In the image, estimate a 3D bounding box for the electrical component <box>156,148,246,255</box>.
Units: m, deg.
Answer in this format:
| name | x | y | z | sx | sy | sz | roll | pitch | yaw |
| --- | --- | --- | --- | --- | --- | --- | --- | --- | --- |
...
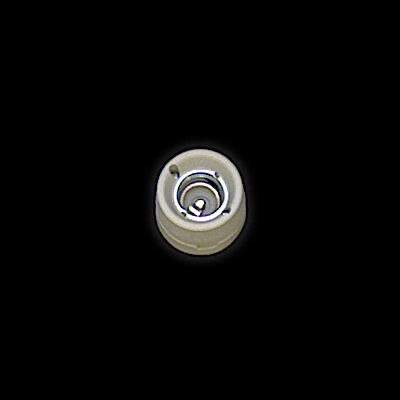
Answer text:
| name | x | y | z | sx | sy | sz | roll | pitch | yaw |
| --- | --- | --- | --- | --- | --- | --- | --- | --- | --- |
| electrical component | 0.000 | 0.000 | 0.633 | 0.055 | 0.056 | 0.047 | 0 | -18 | 1 |
